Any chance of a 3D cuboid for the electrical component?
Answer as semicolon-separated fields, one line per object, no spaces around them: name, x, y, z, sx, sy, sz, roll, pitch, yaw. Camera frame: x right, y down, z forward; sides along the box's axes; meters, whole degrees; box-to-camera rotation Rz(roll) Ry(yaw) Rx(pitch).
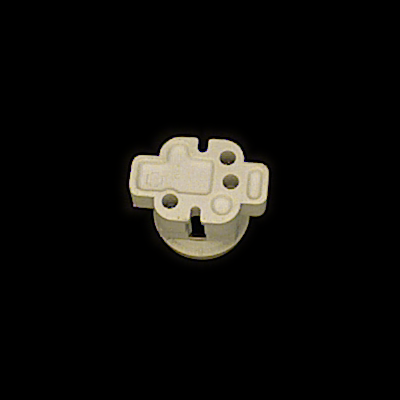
electrical component;0.000;0.000;0.635;0.078;0.058;0.056;3;-26;3
